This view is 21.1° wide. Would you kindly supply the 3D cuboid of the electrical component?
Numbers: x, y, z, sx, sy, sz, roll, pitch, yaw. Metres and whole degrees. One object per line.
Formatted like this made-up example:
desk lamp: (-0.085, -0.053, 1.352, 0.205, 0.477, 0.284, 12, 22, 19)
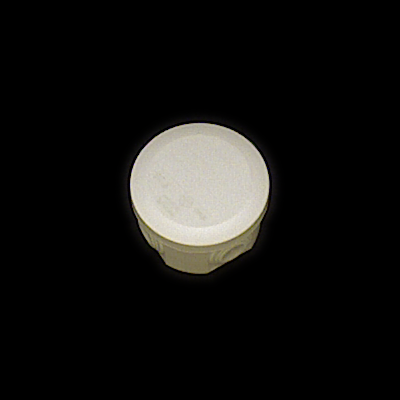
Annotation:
electrical component: (0.000, 0.000, 0.631, 0.080, 0.080, 0.050, 0, -28, 0)
